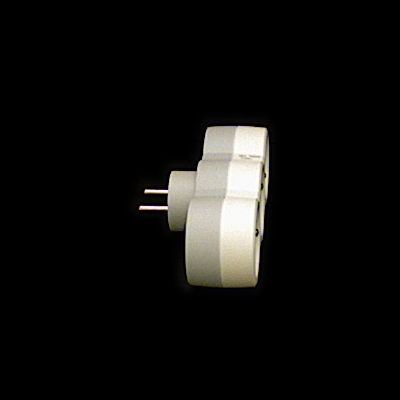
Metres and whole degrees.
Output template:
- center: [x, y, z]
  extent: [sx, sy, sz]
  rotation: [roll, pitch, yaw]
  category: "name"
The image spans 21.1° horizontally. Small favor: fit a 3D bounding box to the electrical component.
- center: [0.000, 0.000, 0.645]
  extent: [0.073, 0.053, 0.137]
  rotation: [3, 32, 6]
  category: "electrical component"
